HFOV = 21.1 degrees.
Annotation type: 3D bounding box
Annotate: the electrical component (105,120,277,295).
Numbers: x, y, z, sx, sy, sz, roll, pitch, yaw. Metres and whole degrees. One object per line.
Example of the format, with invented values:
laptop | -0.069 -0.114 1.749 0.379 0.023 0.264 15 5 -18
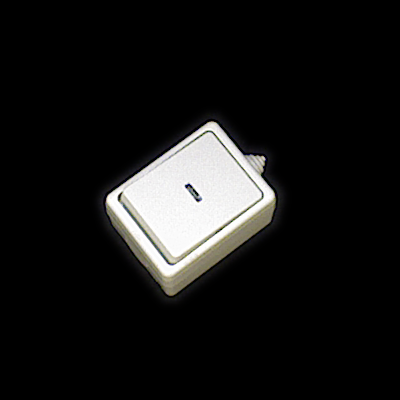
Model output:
electrical component | 0.000 0.000 0.626 0.096 0.062 0.060 -37 -13 -11
